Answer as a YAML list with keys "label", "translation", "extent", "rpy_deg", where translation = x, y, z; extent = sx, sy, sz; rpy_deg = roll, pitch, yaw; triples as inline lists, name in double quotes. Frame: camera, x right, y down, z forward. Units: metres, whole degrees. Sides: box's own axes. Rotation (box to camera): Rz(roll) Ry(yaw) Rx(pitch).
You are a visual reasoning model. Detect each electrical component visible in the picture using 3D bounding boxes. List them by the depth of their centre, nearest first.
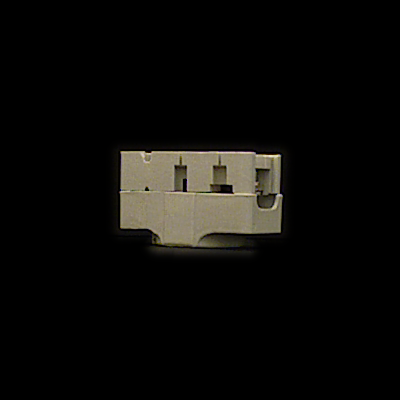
- label: "electrical component"
  translation: [0.000, 0.000, 0.656]
  extent: [0.089, 0.056, 0.050]
  rpy_deg: [1, 2, 29]
